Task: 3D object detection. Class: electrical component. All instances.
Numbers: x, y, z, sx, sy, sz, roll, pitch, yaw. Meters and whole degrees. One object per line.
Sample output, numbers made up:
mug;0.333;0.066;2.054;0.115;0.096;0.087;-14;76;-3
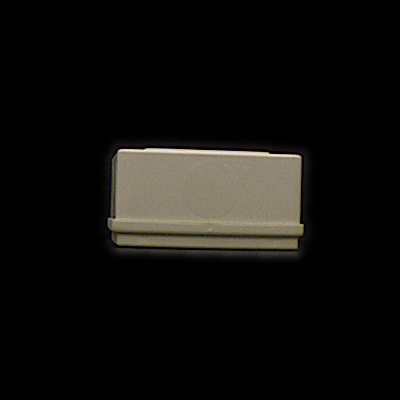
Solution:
electrical component;0.000;0.000;0.652;0.109;0.056;0.108;2;0;-6
